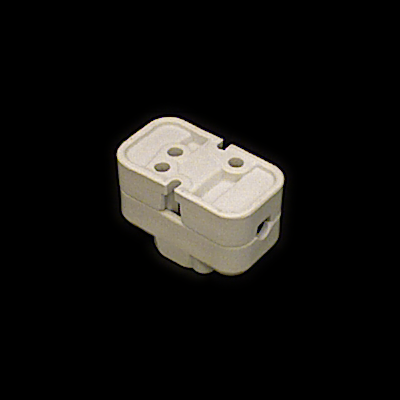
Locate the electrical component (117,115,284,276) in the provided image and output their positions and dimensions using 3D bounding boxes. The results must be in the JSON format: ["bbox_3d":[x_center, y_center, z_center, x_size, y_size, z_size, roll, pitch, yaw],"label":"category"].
[{"bbox_3d":[0.000,0.000,0.636,0.094,0.060,0.054,28,49,26],"label":"electrical component"}]
